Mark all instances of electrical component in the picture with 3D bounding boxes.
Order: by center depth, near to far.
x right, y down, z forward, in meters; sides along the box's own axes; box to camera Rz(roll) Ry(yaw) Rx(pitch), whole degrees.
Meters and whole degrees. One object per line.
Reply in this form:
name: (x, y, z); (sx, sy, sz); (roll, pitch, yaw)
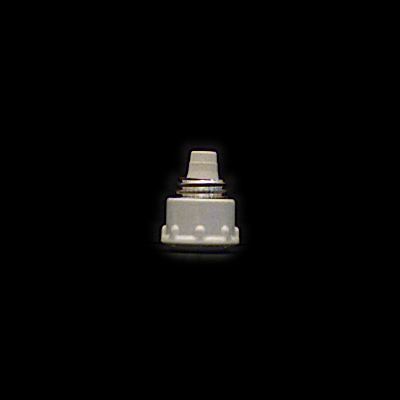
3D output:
electrical component: (0.000, 0.000, 0.658); (0.048, 0.062, 0.048); (2, 2, 0)
